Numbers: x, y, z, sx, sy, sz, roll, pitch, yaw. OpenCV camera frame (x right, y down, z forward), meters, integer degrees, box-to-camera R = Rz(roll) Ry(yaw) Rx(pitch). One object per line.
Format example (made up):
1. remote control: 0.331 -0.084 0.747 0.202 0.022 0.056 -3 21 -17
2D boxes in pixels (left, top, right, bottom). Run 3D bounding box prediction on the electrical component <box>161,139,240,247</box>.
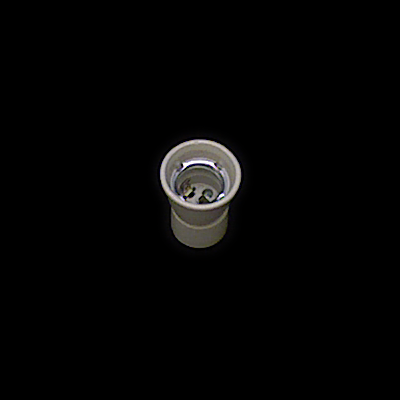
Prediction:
1. electrical component: 0.000 0.000 0.626 0.044 0.044 0.065 0 -28 -1
